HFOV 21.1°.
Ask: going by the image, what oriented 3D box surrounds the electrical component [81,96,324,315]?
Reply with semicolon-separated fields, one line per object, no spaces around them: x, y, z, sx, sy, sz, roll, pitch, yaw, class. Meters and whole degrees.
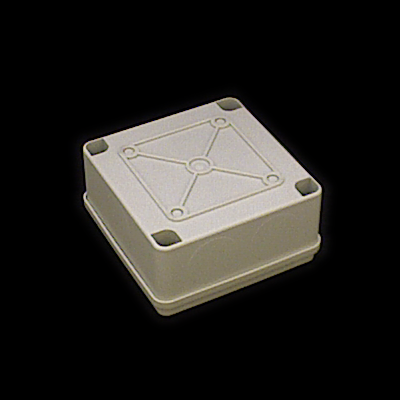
0.000;0.000;0.631;0.109;0.057;0.107;-20;45;-21;electrical component
